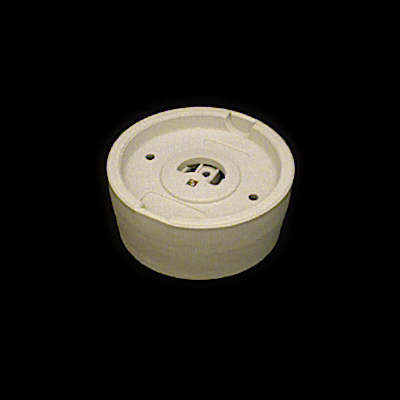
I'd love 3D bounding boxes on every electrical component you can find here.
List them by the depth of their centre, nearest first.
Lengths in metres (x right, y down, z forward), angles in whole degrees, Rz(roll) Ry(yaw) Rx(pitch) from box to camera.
[{"bbox_3d":[0.000,0.000,0.635,0.108,0.061,0.107,1,42,0],"label":"electrical component"}]
